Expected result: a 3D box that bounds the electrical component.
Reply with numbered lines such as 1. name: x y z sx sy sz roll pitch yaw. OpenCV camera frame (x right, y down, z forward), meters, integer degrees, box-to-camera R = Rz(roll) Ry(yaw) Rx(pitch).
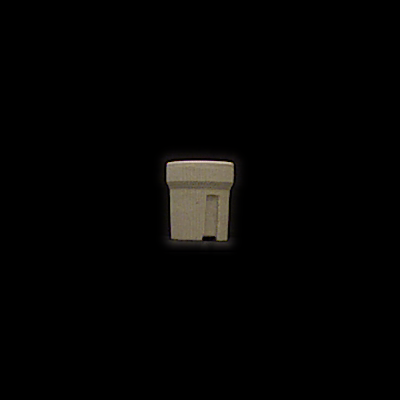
1. electrical component: 0.000 0.000 0.651 0.040 0.046 0.040 1 1 1
